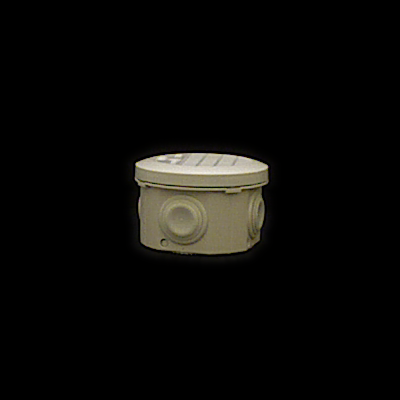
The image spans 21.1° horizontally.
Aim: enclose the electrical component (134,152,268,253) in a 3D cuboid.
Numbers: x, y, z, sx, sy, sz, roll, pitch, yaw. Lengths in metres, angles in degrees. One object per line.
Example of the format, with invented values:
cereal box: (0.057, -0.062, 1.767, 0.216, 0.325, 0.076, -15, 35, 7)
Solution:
electrical component: (0.000, 0.000, 0.647, 0.080, 0.051, 0.079, 1, 10, 0)
